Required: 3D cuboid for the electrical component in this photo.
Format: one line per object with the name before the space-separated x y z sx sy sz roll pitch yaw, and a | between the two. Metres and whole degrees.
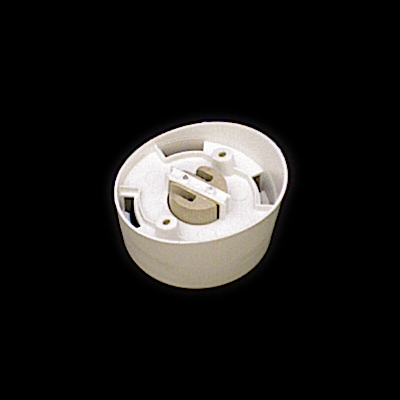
electrical component | 0.000 0.000 0.626 0.099 0.098 0.064 0 -37 -2
